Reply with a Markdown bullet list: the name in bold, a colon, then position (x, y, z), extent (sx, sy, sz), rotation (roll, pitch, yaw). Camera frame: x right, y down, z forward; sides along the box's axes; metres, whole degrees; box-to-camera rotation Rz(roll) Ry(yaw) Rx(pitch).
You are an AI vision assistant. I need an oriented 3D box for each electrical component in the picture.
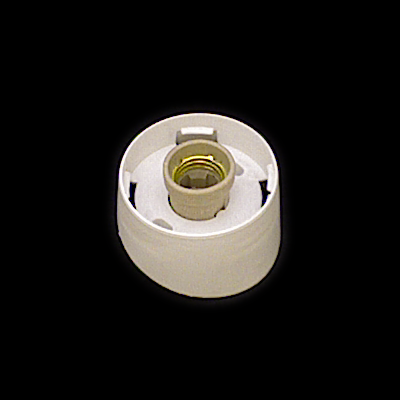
- **electrical component**: position (0.000, 0.000, 0.626), extent (0.099, 0.098, 0.064), rotation (0, -37, -1)
